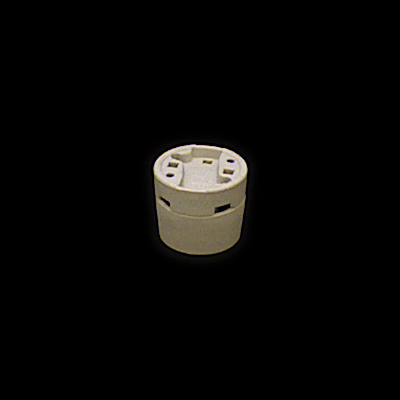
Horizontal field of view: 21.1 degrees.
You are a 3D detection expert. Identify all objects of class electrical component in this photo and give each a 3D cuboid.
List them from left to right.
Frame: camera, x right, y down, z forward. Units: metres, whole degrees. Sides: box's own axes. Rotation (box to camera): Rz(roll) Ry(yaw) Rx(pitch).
[{"bbox_3d":[0.000,0.000,0.637,0.055,0.047,0.055,1,31,0],"label":"electrical component"}]
